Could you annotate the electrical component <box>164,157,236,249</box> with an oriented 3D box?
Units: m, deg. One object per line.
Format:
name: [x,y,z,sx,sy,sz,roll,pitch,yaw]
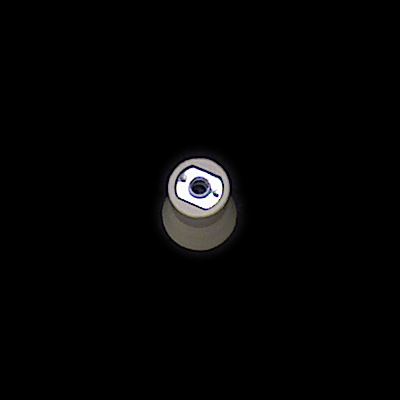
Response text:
electrical component: [0.000,0.000,0.624,0.044,0.044,0.065,0,-16,0]
